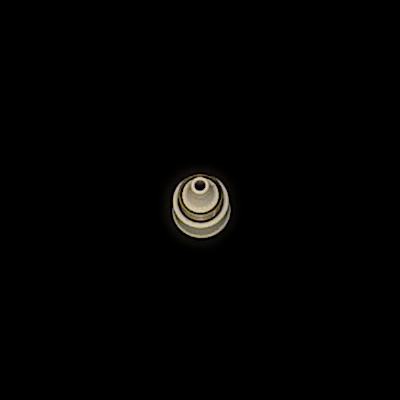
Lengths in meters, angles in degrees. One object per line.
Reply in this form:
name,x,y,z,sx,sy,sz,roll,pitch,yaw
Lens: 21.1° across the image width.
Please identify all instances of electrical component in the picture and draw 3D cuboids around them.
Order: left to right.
electrical component,0.000,0.000,0.637,0.035,0.035,0.061,0,-17,1
